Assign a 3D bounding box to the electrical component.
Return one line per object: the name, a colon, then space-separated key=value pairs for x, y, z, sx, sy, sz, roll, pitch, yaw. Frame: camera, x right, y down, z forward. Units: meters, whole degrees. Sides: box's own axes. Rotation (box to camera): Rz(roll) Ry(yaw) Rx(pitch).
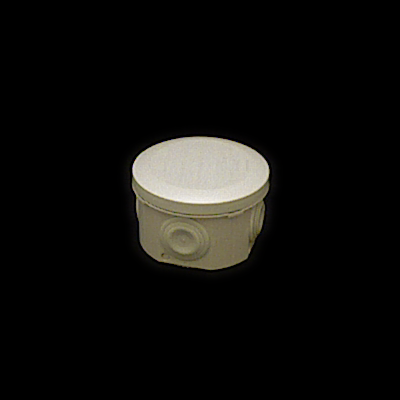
electrical component: x=0.000 y=0.000 z=0.634 sx=0.080 sy=0.051 sz=0.079 roll=1 pitch=31 yaw=0
